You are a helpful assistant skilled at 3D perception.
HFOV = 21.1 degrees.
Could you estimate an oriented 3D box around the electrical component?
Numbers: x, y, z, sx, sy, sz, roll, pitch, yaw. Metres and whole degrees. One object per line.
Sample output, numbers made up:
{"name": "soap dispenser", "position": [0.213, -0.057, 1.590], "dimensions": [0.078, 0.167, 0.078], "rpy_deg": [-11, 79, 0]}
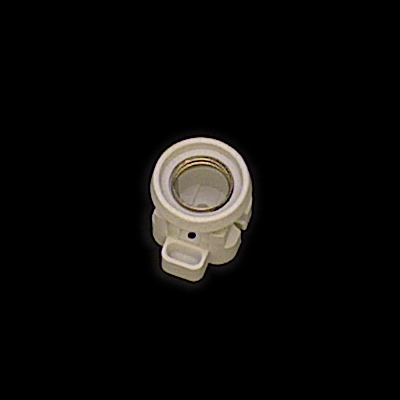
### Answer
{"name": "electrical component", "position": [0.000, 0.000, 0.629], "dimensions": [0.058, 0.078, 0.057], "rpy_deg": [18, -26, 9]}
